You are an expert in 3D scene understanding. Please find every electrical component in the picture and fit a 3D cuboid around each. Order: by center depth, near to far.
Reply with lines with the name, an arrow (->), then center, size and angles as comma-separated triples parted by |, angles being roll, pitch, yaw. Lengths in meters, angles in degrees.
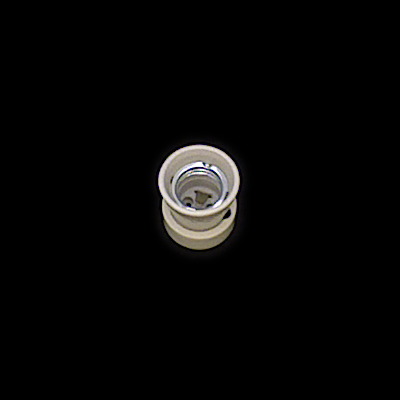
electrical component -> 0.000, 0.000, 0.627 | 0.045, 0.045, 0.055 | 0, -26, 0
